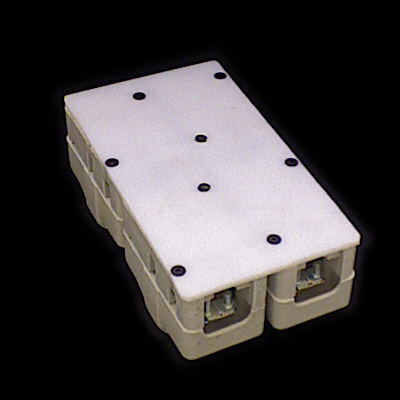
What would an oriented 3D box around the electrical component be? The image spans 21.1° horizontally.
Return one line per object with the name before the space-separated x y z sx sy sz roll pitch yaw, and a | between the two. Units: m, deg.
electrical component | 0.000 0.000 0.629 0.105 0.061 0.184 -16 45 -18
